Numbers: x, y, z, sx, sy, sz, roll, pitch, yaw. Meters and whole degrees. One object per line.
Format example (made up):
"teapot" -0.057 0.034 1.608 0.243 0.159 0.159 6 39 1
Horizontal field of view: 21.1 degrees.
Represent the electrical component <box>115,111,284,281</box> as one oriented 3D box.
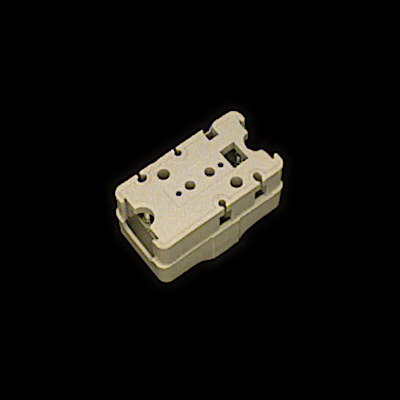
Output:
"electrical component" 0.000 0.000 0.636 0.090 0.050 0.055 -35 -22 -17
